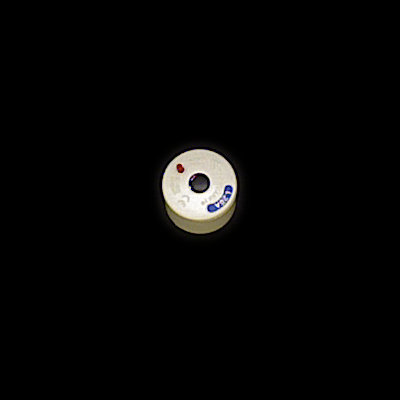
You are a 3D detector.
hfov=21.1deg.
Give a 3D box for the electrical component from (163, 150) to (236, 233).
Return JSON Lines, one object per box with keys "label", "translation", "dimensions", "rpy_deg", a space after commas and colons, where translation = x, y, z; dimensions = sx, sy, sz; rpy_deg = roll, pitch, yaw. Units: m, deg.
{"label": "electrical component", "translation": [0.000, 0.000, 0.617], "dimensions": [0.040, 0.040, 0.078], "rpy_deg": [0, -17, 1]}
